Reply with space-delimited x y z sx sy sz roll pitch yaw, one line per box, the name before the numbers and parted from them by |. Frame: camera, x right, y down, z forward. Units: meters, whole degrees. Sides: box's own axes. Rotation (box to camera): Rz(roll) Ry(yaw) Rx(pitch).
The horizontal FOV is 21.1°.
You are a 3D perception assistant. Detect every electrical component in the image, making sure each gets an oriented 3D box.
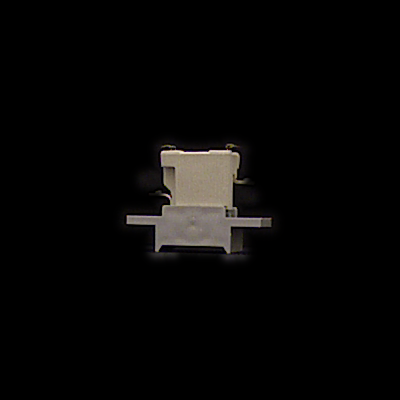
electrical component | 0.000 0.000 0.649 0.081 0.064 0.042 2 1 11
